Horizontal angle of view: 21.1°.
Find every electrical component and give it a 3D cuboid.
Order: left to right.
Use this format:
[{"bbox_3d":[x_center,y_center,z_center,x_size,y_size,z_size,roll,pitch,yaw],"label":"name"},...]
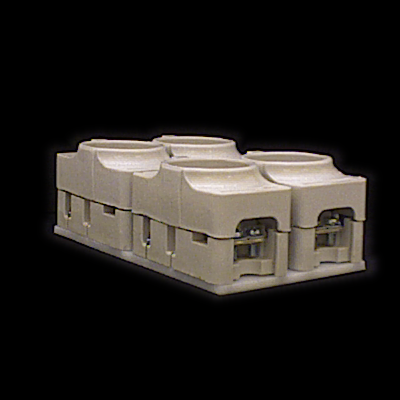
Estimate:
[{"bbox_3d":[0.000,0.000,0.643,0.106,0.060,0.184,-6,12,-34],"label":"electrical component"}]
